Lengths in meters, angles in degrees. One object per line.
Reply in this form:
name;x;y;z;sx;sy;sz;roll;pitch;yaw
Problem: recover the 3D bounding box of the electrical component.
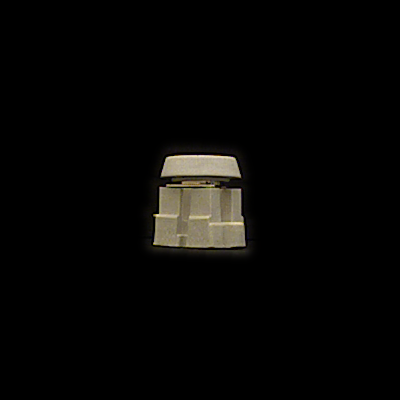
electrical component;0.000;0.000;0.656;0.066;0.055;0.049;2;0;35
